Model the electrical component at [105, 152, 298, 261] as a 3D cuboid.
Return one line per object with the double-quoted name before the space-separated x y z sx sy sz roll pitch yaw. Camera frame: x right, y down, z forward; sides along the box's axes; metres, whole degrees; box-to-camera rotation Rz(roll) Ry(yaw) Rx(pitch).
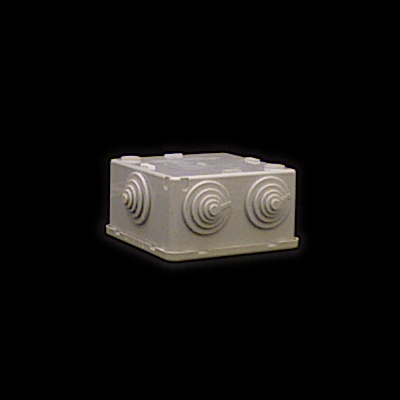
"electrical component" 0.000 0.000 0.644 0.100 0.049 0.099 -5 12 -29
